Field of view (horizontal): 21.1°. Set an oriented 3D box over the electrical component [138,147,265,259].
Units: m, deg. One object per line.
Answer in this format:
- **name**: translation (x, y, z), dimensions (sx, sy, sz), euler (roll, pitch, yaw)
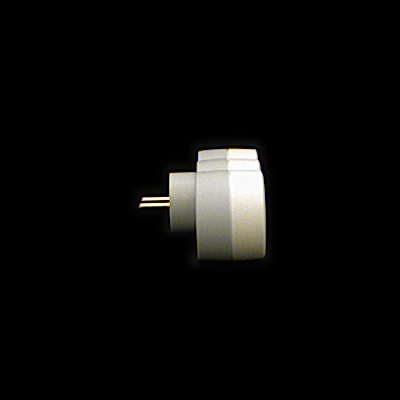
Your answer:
- **electrical component**: translation (0.000, 0.000, 0.653), dimensions (0.074, 0.052, 0.137), euler (0, 11, 1)
